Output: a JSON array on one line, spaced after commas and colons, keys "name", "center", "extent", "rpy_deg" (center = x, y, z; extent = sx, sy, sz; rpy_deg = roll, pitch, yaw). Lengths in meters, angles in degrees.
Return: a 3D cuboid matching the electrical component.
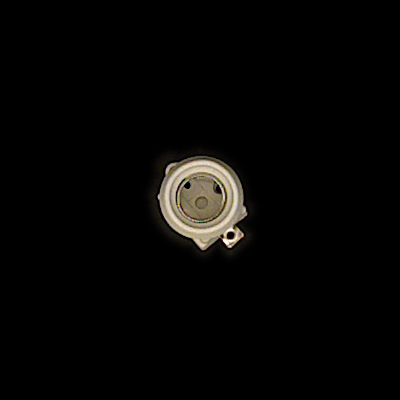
[{"name": "electrical component", "center": [0.000, 0.000, 0.639], "extent": [0.048, 0.066, 0.055], "rpy_deg": [-42, -5, -1]}]
